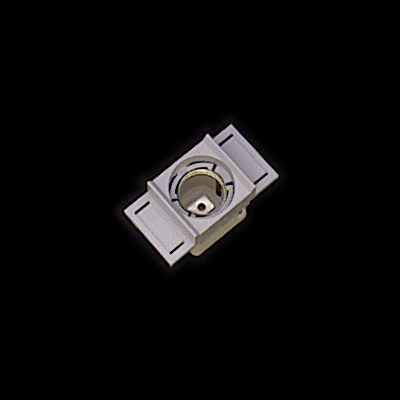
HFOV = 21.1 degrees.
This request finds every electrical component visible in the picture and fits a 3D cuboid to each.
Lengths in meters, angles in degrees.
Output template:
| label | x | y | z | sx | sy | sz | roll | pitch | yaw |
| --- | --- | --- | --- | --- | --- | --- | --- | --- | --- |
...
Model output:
| label | x | y | z | sx | sy | sz | roll | pitch | yaw |
| --- | --- | --- | --- | --- | --- | --- | --- | --- | --- |
| electrical component | 0.000 | 0.000 | 0.623 | 0.081 | 0.042 | 0.063 | -39 | -12 | -11 |
